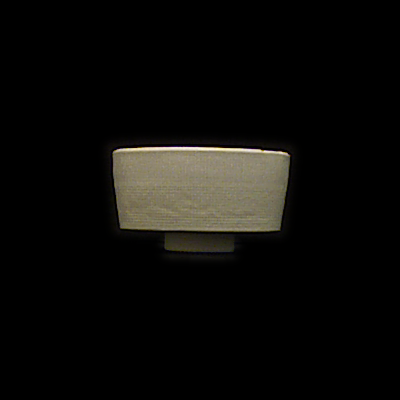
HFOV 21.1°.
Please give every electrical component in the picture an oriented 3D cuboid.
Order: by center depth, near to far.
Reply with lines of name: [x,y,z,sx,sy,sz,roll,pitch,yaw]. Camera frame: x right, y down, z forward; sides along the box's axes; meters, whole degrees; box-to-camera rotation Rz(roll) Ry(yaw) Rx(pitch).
electrical component: [0.000,0.000,0.656,0.108,0.060,0.108,1,0,0]
